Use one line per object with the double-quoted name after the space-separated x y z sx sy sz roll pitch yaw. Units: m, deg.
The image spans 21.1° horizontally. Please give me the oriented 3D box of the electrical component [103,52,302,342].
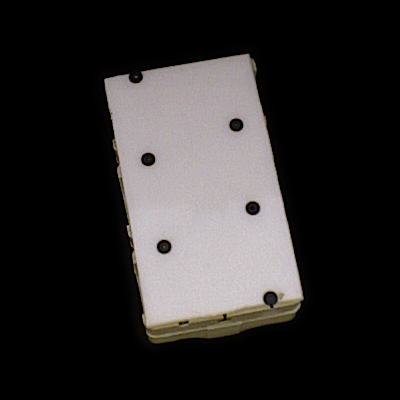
0.000 0.000 0.631 0.090 0.149 0.062 -10 -17 -3 "electrical component"
